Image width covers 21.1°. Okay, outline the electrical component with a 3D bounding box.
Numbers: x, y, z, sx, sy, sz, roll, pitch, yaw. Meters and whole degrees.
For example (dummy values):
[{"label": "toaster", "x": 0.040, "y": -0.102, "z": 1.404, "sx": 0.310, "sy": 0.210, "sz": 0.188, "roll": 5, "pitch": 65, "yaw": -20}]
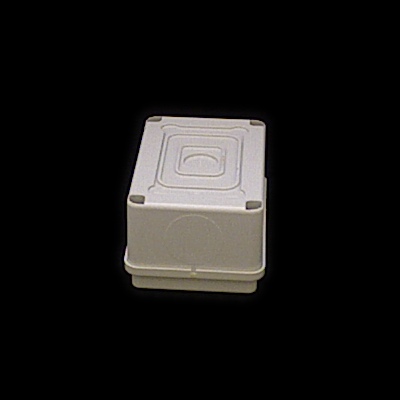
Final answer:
[{"label": "electrical component", "x": 0.000, "y": 0.000, "z": 0.635, "sx": 0.078, "sy": 0.058, "sz": 0.111, "roll": 3, "pitch": 32, "yaw": 2}]
